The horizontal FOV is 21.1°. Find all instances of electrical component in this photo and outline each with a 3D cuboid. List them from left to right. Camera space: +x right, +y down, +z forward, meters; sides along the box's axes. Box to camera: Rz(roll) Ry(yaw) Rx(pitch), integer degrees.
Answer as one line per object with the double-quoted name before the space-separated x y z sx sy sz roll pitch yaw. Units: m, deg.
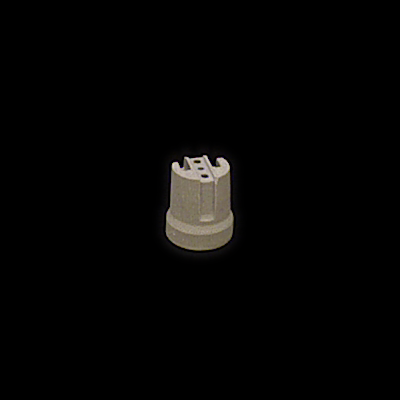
"electrical component" 0.000 0.000 0.639 0.040 0.046 0.040 1 32 -1
